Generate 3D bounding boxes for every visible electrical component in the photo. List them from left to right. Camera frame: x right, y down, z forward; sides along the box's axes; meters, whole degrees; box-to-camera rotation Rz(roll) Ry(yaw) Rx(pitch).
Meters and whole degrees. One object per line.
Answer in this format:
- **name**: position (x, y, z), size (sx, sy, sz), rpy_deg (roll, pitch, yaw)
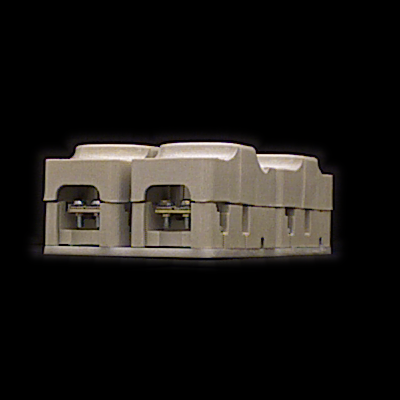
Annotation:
- **electrical component**: position (0.000, 0.000, 0.650), size (0.105, 0.060, 0.187), rpy_deg (1, -1, 27)
